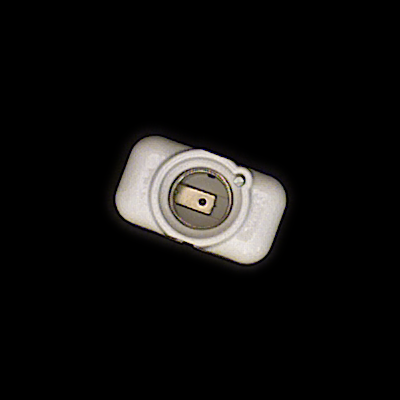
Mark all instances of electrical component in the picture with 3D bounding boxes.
[{"bbox_3d":[0.000,0.000,0.635,0.095,0.054,0.059,19,-4,2],"label":"electrical component"}]
